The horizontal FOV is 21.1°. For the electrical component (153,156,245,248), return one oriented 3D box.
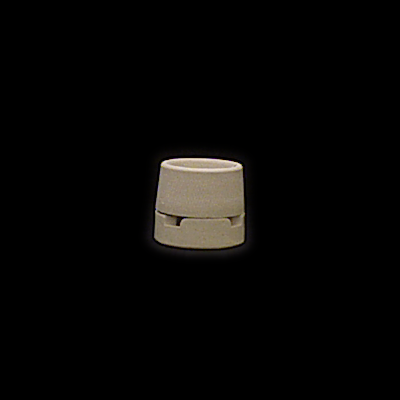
[{"bbox_3d":[0.000,0.000,0.646,0.055,0.047,0.055,2,11,0],"label":"electrical component"}]
